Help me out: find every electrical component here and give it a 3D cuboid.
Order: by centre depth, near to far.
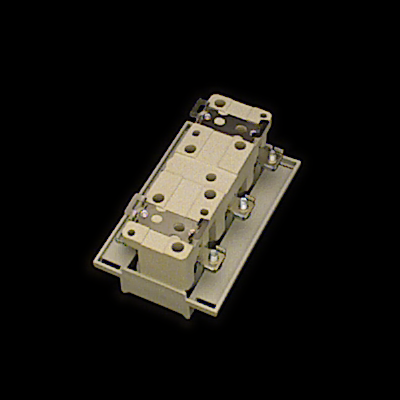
[{"bbox_3d":[0.000,0.000,0.635,0.078,0.121,0.063,21,-34,16],"label":"electrical component"}]
